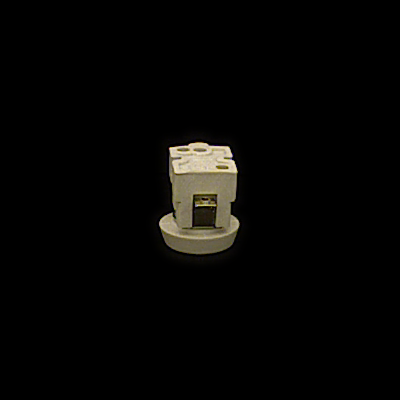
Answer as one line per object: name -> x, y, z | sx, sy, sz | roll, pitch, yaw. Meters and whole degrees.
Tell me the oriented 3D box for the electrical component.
electrical component -> 0.000, 0.000, 0.648 | 0.048, 0.056, 0.065 | 0, 23, -6
